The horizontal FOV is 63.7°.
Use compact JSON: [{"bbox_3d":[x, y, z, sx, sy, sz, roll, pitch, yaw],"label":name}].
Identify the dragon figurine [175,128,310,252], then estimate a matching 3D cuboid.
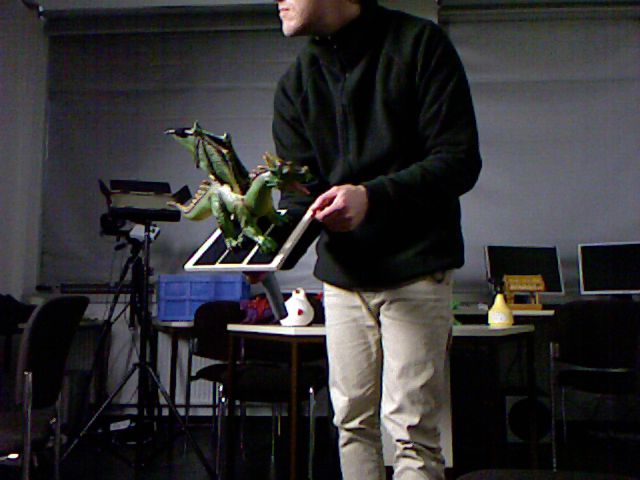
[{"bbox_3d":[-0.184,-0.108,0.965,0.411,0.238,0.125,8,44,34],"label":"dragon figurine"}]
